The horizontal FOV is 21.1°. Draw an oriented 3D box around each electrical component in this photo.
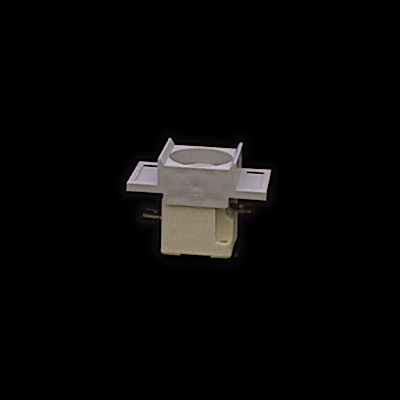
[{"bbox_3d":[0.000,0.000,0.637,0.081,0.064,0.041,4,22,6],"label":"electrical component"}]
